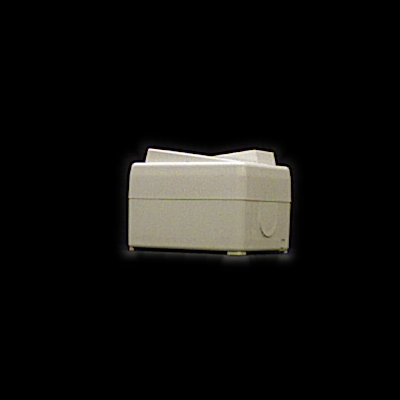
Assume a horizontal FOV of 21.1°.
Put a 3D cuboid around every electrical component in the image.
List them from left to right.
[{"bbox_3d":[0.000,0.000,0.651,0.096,0.061,0.062,2,0,32],"label":"electrical component"}]
